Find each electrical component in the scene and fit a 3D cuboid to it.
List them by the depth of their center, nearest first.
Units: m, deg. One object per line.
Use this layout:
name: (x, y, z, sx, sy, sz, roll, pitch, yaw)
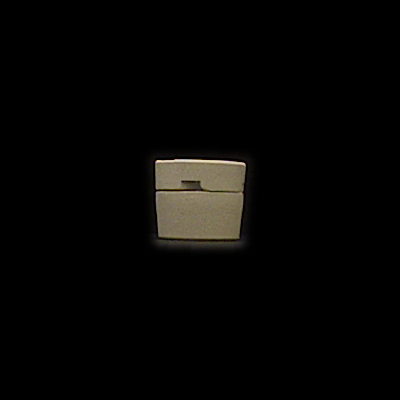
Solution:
electrical component: (0.000, 0.000, 0.652, 0.055, 0.047, 0.055, 1, 1, 0)
